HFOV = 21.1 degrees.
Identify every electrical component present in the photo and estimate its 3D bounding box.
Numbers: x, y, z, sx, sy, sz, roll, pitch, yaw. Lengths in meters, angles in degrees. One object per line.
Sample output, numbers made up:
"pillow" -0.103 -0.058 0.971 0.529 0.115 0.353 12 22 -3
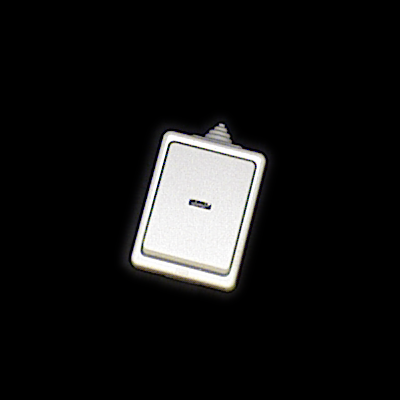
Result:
"electrical component" 0.000 0.000 0.627 0.062 0.096 0.061 14 -7 2
